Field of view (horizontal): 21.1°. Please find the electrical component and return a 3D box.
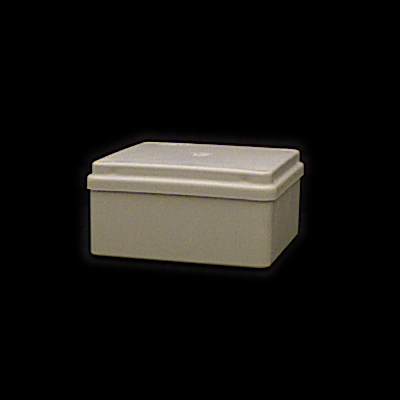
[{"bbox_3d":[0.000,0.000,0.643,0.108,0.056,0.108,4,11,14],"label":"electrical component"}]
